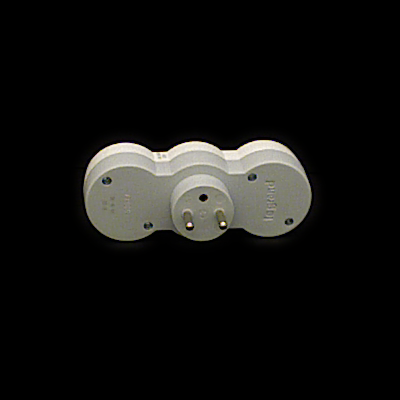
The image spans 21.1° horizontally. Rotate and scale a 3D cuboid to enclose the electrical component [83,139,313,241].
[{"bbox_3d":[0.000,0.000,0.644,0.138,0.053,0.072,-1,23,-7],"label":"electrical component"}]
